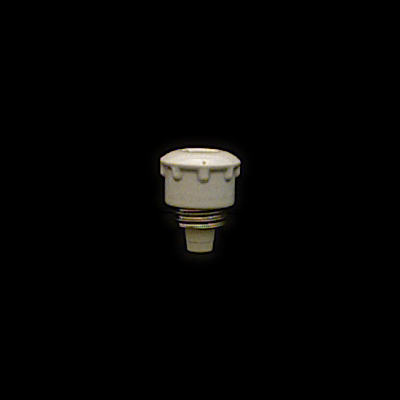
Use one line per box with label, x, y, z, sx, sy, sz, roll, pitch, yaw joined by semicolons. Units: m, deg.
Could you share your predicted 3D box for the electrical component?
electrical component;0.000;0.000;0.649;0.048;0.062;0.048;1;11;0
